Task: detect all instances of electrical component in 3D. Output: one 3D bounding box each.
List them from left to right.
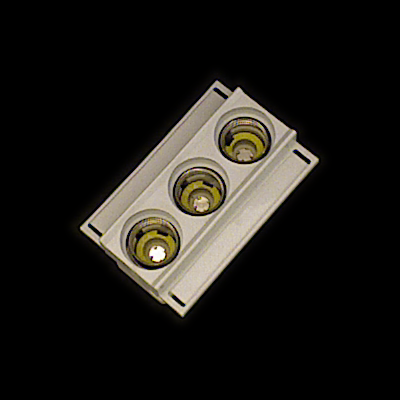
[{"bbox_3d":[0.000,0.000,0.637,0.078,0.122,0.063,40,-12,13],"label":"electrical component"}]
